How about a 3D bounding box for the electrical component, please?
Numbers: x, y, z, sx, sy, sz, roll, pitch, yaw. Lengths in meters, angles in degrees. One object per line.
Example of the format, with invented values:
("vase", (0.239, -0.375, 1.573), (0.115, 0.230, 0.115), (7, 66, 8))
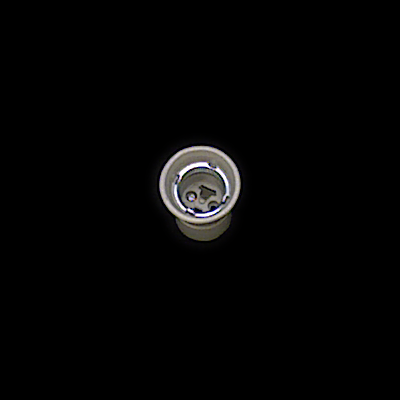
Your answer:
("electrical component", (0.000, 0.000, 0.624), (0.044, 0.044, 0.065), (0, -17, 2))
